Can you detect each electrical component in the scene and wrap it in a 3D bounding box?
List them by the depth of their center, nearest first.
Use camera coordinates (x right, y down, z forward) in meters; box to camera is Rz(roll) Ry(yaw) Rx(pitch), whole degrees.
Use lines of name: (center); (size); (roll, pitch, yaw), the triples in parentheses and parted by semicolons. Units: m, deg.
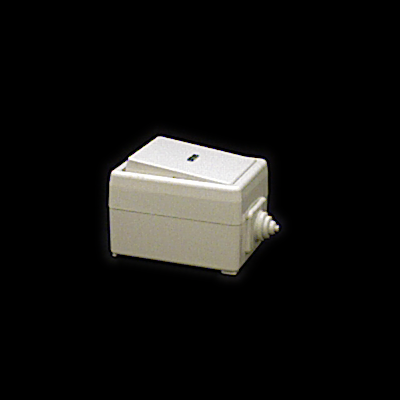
electrical component: (0.000, 0.000, 0.638); (0.096, 0.061, 0.061); (8, 22, 18)
